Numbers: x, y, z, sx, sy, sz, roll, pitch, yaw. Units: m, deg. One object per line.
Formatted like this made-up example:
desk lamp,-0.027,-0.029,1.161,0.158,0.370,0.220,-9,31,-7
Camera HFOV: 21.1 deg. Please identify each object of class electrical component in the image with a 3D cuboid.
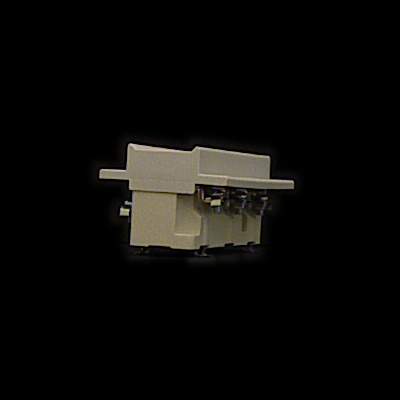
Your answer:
electrical component,0.000,0.000,0.663,0.078,0.063,0.121,3,1,23
